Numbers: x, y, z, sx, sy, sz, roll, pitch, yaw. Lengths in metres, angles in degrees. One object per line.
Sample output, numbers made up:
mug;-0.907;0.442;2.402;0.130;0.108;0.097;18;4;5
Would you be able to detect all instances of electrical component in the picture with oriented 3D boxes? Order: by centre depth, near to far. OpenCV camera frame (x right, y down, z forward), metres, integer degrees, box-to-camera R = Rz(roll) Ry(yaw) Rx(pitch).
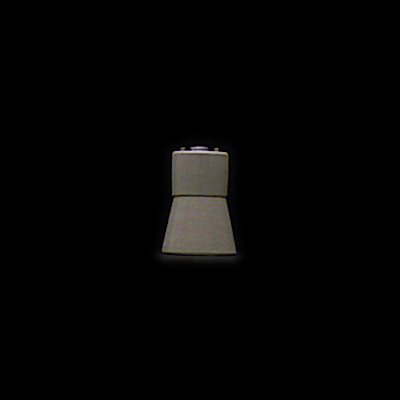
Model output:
electrical component;0.000;0.000;0.651;0.044;0.065;0.044;1;0;0
